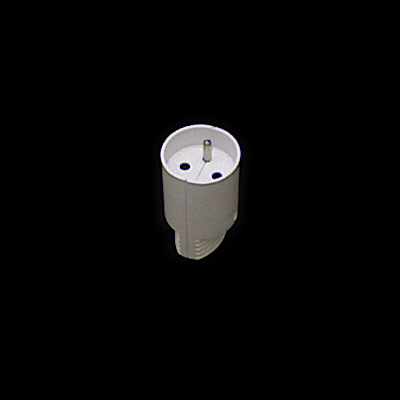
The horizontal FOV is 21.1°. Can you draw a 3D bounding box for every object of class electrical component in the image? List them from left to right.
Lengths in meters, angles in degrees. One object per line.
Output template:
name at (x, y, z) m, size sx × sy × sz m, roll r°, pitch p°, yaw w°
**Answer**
electrical component at (0.000, 0.000, 0.620) m, size 0.043 × 0.043 × 0.081 m, roll 0°, pitch -38°, yaw -1°
